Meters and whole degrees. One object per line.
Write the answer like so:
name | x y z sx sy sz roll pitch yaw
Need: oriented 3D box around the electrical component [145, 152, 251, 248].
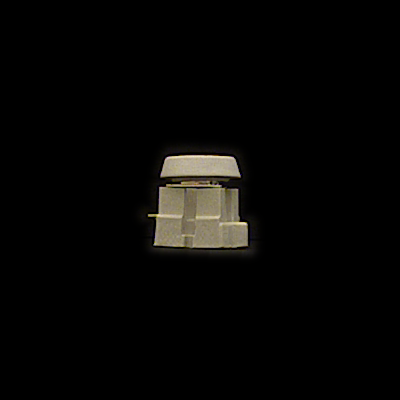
electrical component | 0.000 0.000 0.656 0.066 0.055 0.049 2 0 20
